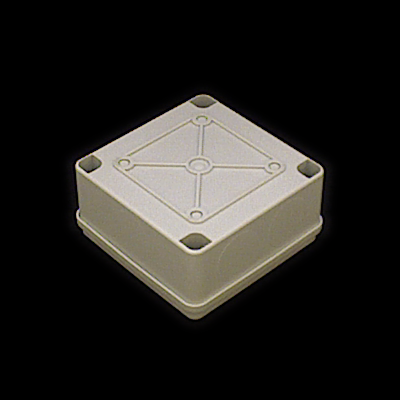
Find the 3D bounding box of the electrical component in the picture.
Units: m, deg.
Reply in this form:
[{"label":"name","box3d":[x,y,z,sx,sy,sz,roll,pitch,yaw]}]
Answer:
[{"label":"electrical component","box3d":[0.000,0.000,0.630,0.109,0.056,0.108,-32,51,-31]}]
